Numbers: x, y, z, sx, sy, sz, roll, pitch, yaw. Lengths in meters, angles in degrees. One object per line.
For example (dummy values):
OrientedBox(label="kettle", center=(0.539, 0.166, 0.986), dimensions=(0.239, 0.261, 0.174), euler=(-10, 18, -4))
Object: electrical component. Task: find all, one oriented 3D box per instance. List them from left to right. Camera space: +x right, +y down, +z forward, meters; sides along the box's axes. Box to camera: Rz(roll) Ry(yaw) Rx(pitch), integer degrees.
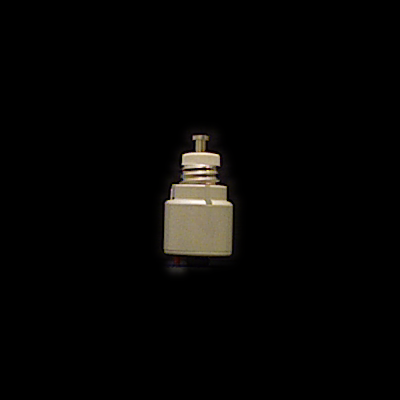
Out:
OrientedBox(label="electrical component", center=(0.000, 0.000, 0.651), dimensions=(0.040, 0.078, 0.040), euler=(2, 2, 0))
